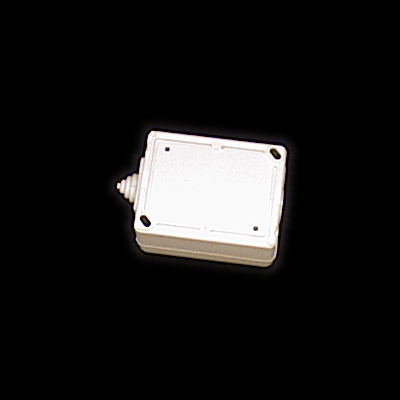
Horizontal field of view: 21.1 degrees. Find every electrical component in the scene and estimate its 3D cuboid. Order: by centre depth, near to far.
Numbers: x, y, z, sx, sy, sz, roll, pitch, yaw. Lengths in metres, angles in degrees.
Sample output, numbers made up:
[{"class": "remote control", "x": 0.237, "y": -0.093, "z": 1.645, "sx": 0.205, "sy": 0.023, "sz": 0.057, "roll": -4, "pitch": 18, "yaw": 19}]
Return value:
[{"class": "electrical component", "x": 0.000, "y": 0.000, "z": 0.629, "sx": 0.096, "sy": 0.062, "sz": 0.060, "roll": 7, "pitch": -17, "yaw": 3}]
